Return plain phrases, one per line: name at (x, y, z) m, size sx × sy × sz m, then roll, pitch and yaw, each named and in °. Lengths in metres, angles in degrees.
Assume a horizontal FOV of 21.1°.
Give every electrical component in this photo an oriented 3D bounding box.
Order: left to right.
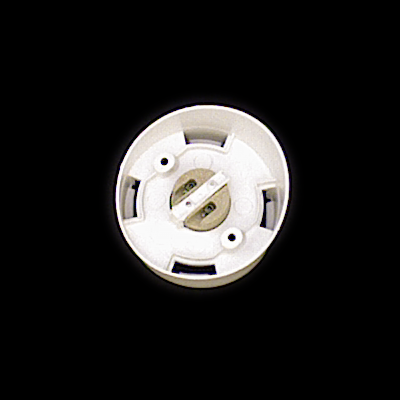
electrical component at (0.000, 0.000, 0.624) m, size 0.099 × 0.099 × 0.064 m, roll 0°, pitch -18°, yaw 0°
